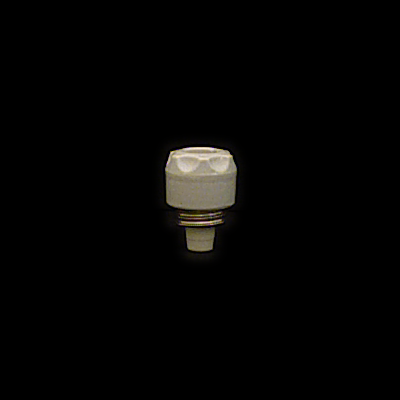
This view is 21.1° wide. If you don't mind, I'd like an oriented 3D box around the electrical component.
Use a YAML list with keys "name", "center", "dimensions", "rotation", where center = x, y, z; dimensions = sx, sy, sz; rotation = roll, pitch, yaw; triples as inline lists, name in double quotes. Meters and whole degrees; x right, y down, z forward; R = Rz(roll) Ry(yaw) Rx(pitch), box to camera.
- name: "electrical component"
  center: [0.000, 0.000, 0.650]
  dimensions: [0.043, 0.062, 0.043]
  rotation: [1, 13, 0]
